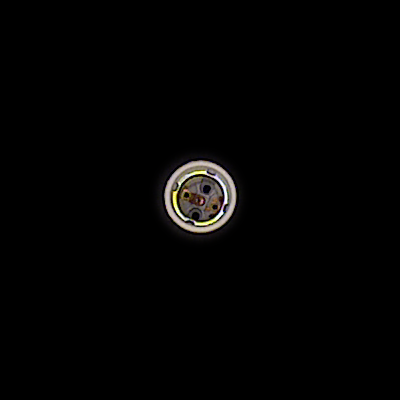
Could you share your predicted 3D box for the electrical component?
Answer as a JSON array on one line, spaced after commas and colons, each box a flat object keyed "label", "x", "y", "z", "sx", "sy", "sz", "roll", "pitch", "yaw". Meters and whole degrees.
[{"label": "electrical component", "x": 0.000, "y": 0.000, "z": 0.627, "sx": 0.040, "sy": 0.040, "sz": 0.046, "roll": 0, "pitch": -6, "yaw": 0}]
